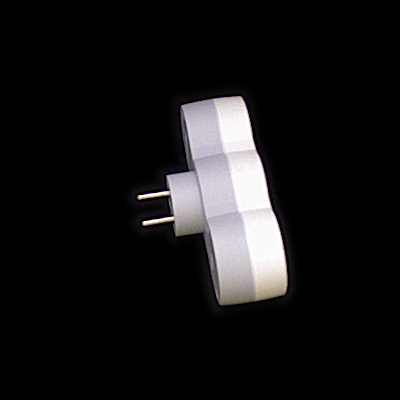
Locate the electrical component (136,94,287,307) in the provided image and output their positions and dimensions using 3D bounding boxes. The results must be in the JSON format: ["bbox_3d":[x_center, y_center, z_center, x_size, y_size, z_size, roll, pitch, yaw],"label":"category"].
[{"bbox_3d":[0.000,0.000,0.630,0.074,0.138,0.052,-9,-36,-5],"label":"electrical component"}]
